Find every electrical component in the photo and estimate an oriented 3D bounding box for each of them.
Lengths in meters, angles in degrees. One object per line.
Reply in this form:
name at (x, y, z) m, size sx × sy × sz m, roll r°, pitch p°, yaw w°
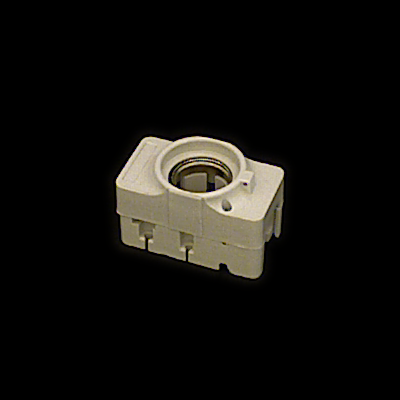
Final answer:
electrical component at (0.000, 0.000, 0.639) m, size 0.089 × 0.056 × 0.050 m, roll 14°, pitch 44°, yaw 14°
